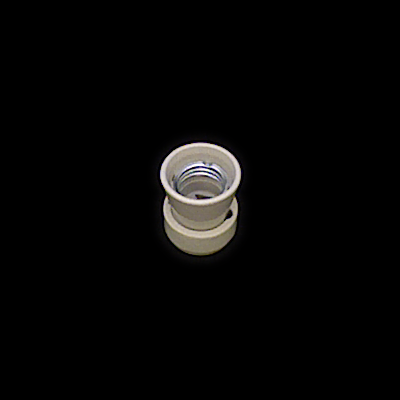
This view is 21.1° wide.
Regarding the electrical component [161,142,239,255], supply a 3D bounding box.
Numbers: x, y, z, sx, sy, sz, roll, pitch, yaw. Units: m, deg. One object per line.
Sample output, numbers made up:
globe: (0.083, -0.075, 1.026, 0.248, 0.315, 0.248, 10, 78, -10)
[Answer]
electrical component: (0.000, 0.000, 0.628, 0.045, 0.044, 0.055, 0, -37, 0)
